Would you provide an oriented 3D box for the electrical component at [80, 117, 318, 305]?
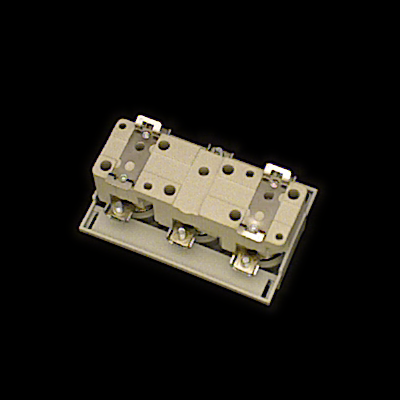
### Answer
[{"bbox_3d":[0.000,0.000,0.632,0.121,0.079,0.063,21,-24,10],"label":"electrical component"}]
